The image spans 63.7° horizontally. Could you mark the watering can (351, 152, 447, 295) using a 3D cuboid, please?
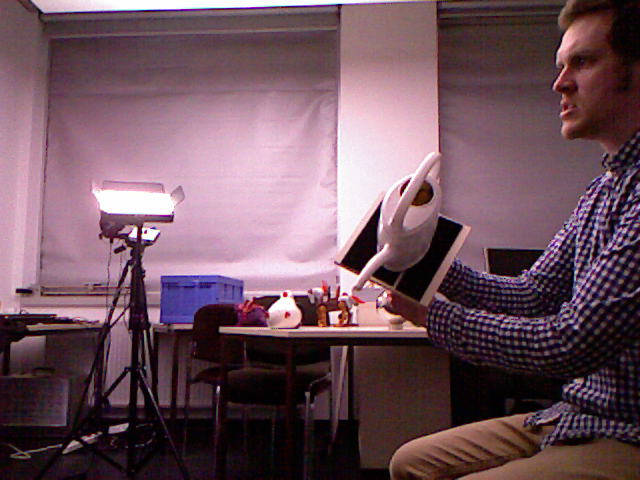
[{"bbox_3d":[0.143,-0.008,0.940,0.105,0.355,0.220,26,-28,18],"label":"watering can"}]
